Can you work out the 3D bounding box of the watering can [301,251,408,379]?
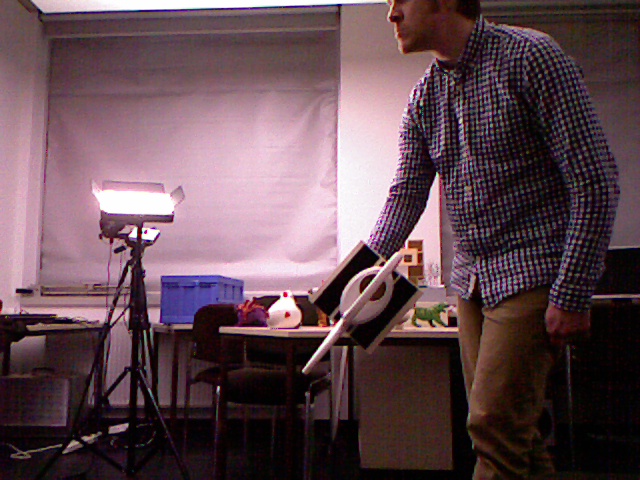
[{"bbox_3d":[0.083,0.164,1.182,0.105,0.349,0.223,40,-1,11],"label":"watering can"}]
